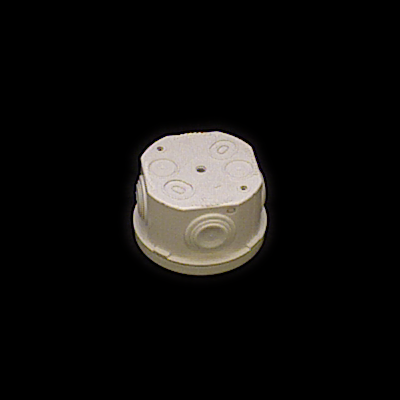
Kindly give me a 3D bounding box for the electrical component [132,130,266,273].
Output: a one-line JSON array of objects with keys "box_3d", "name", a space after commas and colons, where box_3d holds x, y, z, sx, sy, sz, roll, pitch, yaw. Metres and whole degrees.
[{"box_3d": [0.000, 0.000, 0.634, 0.080, 0.051, 0.080, 1, 42, -1], "name": "electrical component"}]
